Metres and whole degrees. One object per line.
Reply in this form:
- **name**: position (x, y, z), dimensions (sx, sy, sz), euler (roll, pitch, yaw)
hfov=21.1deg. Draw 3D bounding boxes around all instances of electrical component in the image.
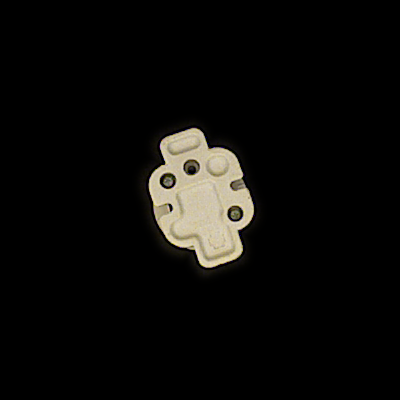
- **electrical component**: position (0.000, 0.000, 0.637), dimensions (0.058, 0.078, 0.056), euler (-20, -4, -2)
